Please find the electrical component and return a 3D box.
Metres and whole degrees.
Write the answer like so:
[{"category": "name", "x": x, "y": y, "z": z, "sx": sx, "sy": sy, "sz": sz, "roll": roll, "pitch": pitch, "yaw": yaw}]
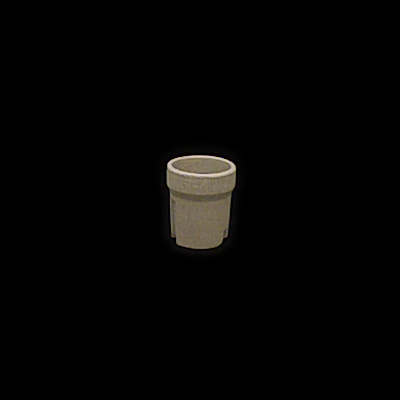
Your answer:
[{"category": "electrical component", "x": 0.000, "y": 0.000, "z": 0.640, "sx": 0.040, "sy": 0.047, "sz": 0.039, "roll": 1, "pitch": 21, "yaw": 0}]
